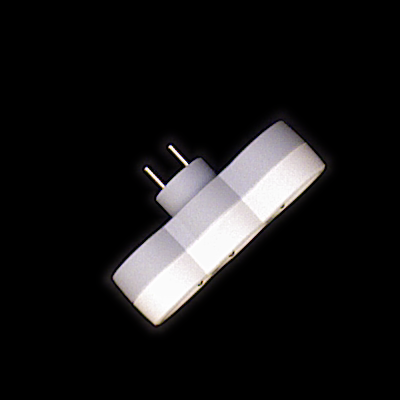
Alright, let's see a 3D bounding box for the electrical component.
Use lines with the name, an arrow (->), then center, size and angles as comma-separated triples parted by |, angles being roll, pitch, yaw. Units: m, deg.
electrical component -> 0.000, 0.000, 0.631 | 0.138, 0.074, 0.052 | -43, -7, -4
